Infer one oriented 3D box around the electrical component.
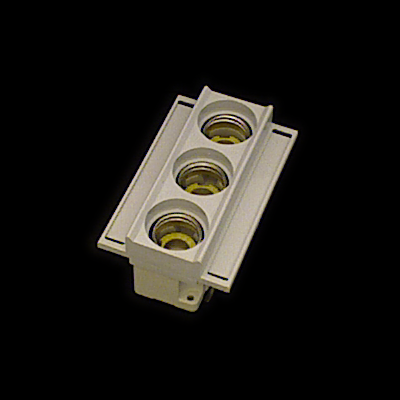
[{"bbox_3d":[0.000,0.000,0.640,0.078,0.121,0.063,18,-35,12],"label":"electrical component"}]
